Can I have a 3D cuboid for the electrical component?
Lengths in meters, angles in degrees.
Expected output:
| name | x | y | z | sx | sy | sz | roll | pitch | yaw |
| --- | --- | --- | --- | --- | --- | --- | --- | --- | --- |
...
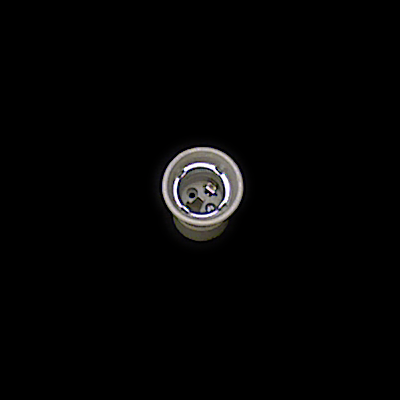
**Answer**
| name | x | y | z | sx | sy | sz | roll | pitch | yaw |
| --- | --- | --- | --- | --- | --- | --- | --- | --- | --- |
| electrical component | 0.000 | 0.000 | 0.624 | 0.044 | 0.044 | 0.065 | 0 | -16 | -1 |
